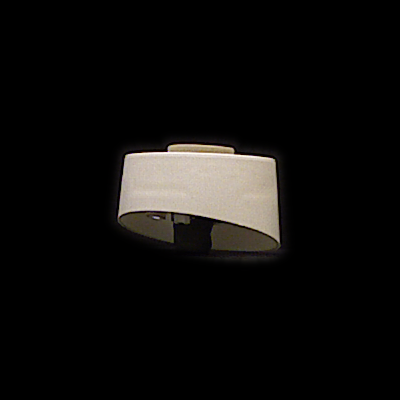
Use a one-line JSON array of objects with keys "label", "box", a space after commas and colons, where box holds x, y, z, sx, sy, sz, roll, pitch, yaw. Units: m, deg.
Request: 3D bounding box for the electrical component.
[{"label": "electrical component", "box": [0.000, 0.000, 0.649, 0.099, 0.064, 0.099, 2, -1, 0]}]
